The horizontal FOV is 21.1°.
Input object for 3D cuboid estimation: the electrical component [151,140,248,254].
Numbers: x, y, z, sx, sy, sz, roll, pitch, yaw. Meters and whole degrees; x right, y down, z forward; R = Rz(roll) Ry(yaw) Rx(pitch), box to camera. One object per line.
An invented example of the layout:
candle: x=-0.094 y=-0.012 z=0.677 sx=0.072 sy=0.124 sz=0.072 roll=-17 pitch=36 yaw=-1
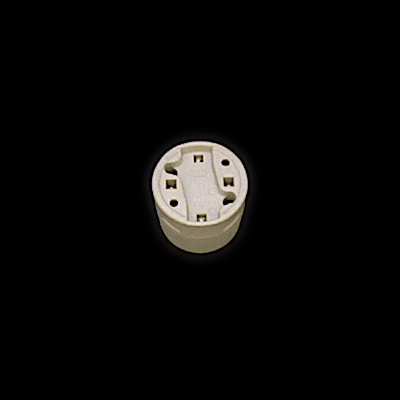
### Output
electrical component: x=0.000 y=0.000 z=0.633 sx=0.055 sy=0.056 sz=0.047 roll=0 pitch=-27 yaw=0
